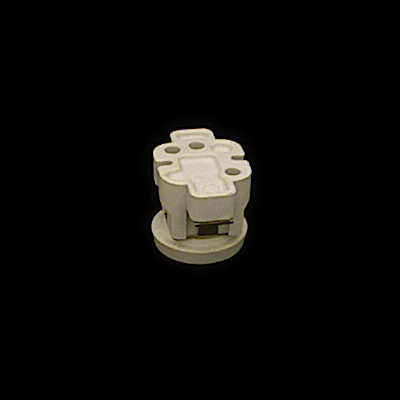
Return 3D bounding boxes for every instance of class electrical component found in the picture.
[{"bbox_3d":[0.000,0.000,0.641,0.058,0.057,0.077,-5,34,-11],"label":"electrical component"}]
